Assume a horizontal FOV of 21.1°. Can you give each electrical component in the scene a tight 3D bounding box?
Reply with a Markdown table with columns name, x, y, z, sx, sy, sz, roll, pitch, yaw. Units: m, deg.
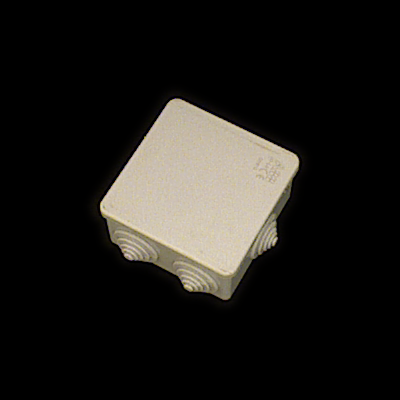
| name | x | y | z | sx | sy | sz | roll | pitch | yaw |
| --- | --- | --- | --- | --- | --- | --- | --- | --- | --- |
| electrical component | 0.000 | 0.000 | 0.641 | 0.099 | 0.100 | 0.048 | 27 | -24 | 12 |
